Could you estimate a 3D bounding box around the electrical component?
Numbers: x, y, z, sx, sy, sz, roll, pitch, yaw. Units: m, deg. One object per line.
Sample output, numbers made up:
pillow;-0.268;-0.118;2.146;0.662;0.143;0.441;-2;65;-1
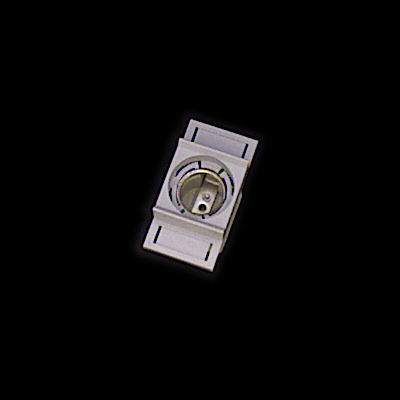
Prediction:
electrical component;0.000;0.000;0.624;0.042;0.081;0.063;19;-15;7
